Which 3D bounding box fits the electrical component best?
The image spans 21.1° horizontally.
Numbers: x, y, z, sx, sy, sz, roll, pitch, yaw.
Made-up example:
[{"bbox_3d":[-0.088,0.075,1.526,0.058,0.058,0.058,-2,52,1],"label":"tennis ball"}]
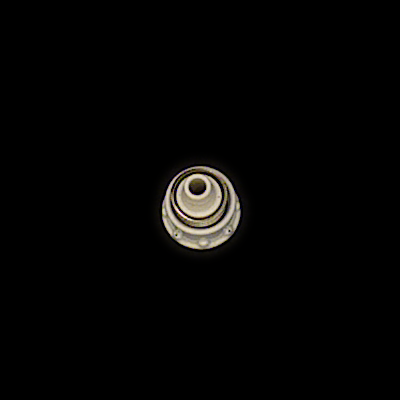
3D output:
[{"bbox_3d":[0.000,0.000,0.633,0.048,0.048,0.061,0,-16,2],"label":"electrical component"}]
